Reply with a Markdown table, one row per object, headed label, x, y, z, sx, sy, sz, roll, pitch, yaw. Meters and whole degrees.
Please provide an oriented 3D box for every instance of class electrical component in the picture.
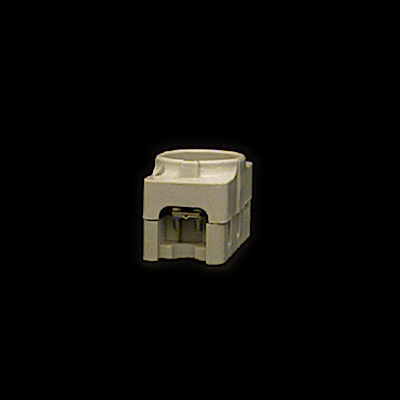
| label | x | y | z | sx | sy | sz | roll | pitch | yaw |
| --- | --- | --- | --- | --- | --- | --- | --- | --- | --- |
| electrical component | 0.000 | 0.000 | 0.651 | 0.050 | 0.056 | 0.089 | 4 | 11 | 12 |
